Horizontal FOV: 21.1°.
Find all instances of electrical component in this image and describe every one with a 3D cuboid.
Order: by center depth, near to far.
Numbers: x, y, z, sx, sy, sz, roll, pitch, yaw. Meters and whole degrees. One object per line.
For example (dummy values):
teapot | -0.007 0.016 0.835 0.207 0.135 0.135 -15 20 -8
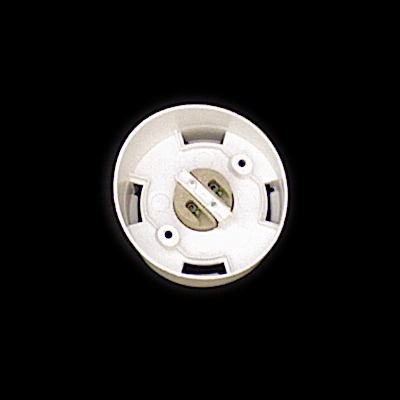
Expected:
electrical component | 0.000 0.000 0.623 0.099 0.099 0.064 0 -17 1
